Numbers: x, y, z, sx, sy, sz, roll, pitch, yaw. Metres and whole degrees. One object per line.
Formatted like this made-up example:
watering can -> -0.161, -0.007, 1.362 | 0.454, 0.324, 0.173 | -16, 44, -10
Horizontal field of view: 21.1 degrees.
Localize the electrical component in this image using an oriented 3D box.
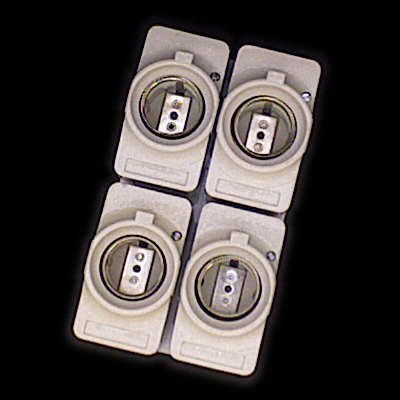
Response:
electrical component -> 0.000, 0.000, 0.626 | 0.105, 0.187, 0.060 | 13, -7, 2
